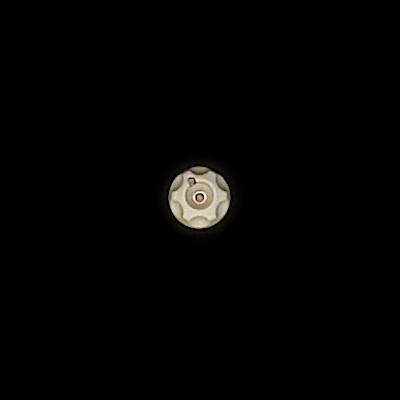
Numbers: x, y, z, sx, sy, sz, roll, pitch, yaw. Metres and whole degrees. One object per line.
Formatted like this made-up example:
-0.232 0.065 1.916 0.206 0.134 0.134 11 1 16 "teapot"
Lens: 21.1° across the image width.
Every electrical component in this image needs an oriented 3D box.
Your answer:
0.000 0.000 0.635 0.035 0.035 0.061 0 -6 1 "electrical component"
